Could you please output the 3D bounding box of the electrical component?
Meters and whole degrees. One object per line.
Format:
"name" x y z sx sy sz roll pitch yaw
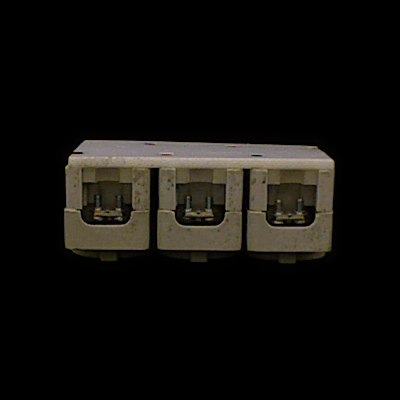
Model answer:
"electrical component" 0.000 0.000 0.648 0.150 0.062 0.088 1 10 0
